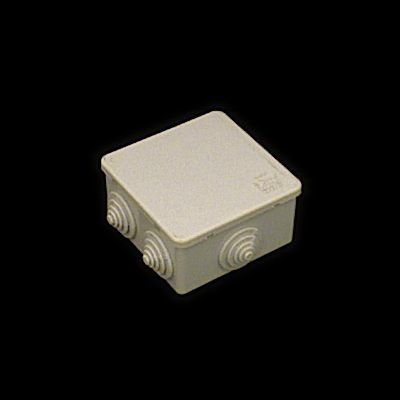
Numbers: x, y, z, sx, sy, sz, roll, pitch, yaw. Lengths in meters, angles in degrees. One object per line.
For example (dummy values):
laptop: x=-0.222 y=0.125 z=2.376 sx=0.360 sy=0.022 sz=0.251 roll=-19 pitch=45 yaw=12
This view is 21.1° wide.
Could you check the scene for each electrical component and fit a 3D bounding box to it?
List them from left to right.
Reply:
electrical component: x=0.000 y=0.000 z=0.643 sx=0.100 sy=0.049 sz=0.098 roll=-24 pitch=48 yaw=-25
